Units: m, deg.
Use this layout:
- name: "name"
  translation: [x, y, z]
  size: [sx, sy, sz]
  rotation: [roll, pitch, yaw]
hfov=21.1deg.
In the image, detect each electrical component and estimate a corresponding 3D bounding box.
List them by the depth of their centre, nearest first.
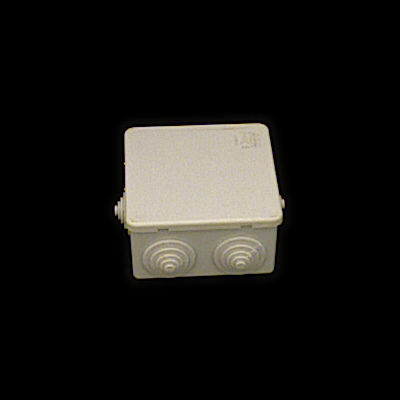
- name: "electrical component"
  translation: [0.000, 0.000, 0.643]
  size: [0.100, 0.049, 0.098]
  rotation: [-2, 43, -3]
